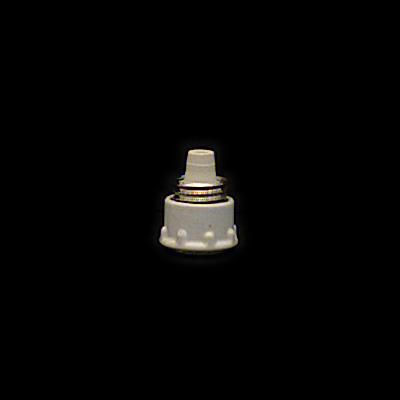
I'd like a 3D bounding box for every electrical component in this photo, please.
[{"bbox_3d":[0.000,0.000,0.650,0.048,0.062,0.047,1,13,0],"label":"electrical component"}]
